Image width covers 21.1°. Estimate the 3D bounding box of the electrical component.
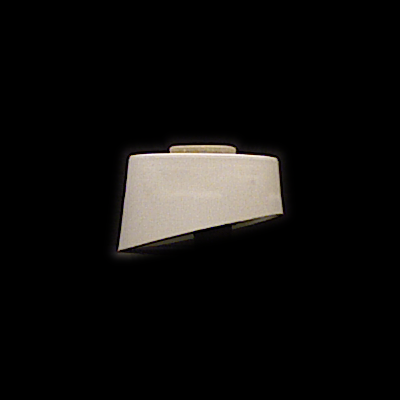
[{"bbox_3d":[0.000,0.000,0.650,0.099,0.064,0.099,1,0,0],"label":"electrical component"}]
